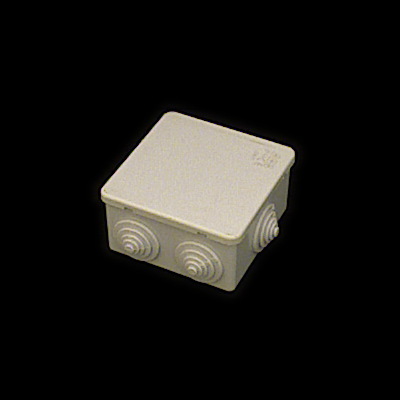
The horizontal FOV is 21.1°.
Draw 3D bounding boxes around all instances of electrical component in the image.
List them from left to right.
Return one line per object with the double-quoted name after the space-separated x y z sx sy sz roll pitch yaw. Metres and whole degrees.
0.000 0.000 0.643 0.099 0.049 0.099 19 45 18 "electrical component"
